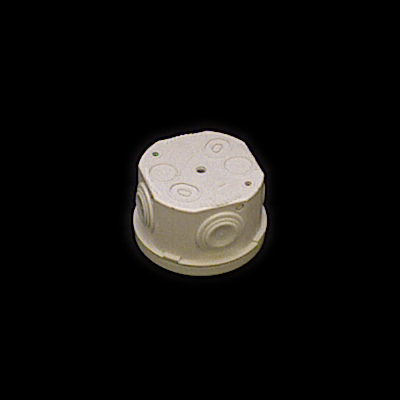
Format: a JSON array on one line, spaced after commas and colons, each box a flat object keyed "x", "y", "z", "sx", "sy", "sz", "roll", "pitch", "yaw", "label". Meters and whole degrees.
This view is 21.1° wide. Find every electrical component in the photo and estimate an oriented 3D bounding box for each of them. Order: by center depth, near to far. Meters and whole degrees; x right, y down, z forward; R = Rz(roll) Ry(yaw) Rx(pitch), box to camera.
[{"x": 0.000, "y": 0.000, "z": 0.634, "sx": 0.080, "sy": 0.051, "sz": 0.080, "roll": 1, "pitch": 42, "yaw": -1, "label": "electrical component"}]
